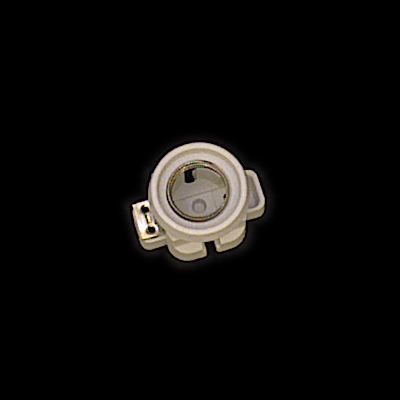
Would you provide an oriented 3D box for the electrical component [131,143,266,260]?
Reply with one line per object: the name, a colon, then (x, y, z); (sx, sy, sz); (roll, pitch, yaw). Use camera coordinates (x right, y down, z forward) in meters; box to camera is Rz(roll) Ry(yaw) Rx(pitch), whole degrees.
electrical component: (0.000, 0.000, 0.628); (0.079, 0.058, 0.056); (-17, -16, -5)
